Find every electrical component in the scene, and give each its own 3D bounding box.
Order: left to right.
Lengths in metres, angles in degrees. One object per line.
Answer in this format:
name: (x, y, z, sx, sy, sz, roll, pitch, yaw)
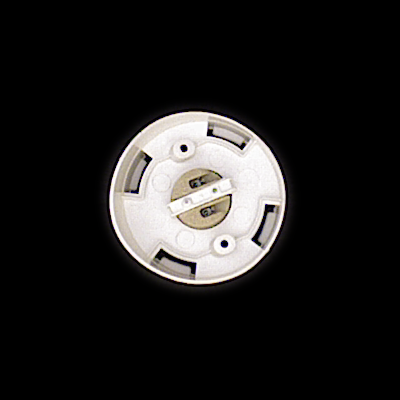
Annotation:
electrical component: (0.000, 0.000, 0.624, 0.099, 0.099, 0.064, 0, -6, 1)
